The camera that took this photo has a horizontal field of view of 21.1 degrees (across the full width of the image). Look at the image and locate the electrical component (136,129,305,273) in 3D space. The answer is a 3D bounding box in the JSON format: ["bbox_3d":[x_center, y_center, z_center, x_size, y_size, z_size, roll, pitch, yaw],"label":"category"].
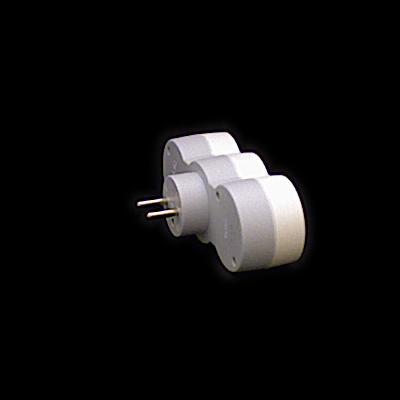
[{"bbox_3d":[0.000,0.000,0.638,0.074,0.053,0.136,-9,24,-19],"label":"electrical component"}]
